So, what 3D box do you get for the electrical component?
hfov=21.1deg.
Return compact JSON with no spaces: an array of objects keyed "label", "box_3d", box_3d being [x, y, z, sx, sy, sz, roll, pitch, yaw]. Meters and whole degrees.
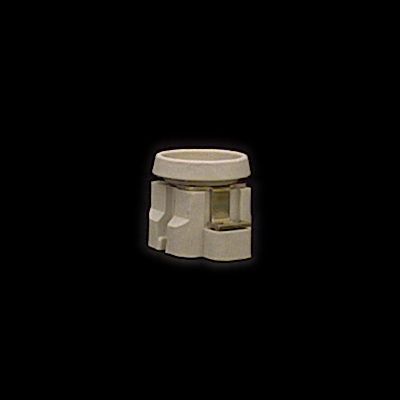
[{"label":"electrical component","box_3d":[0.000,0.000,0.643,0.058,0.057,0.078,-6,13,-32]}]
